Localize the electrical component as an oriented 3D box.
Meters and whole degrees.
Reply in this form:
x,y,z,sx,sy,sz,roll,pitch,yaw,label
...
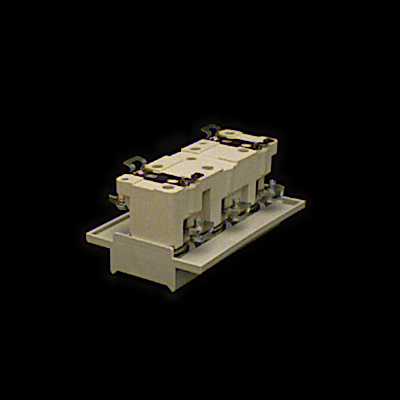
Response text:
x,y,z,sx,sy,sz,roll,pitch,yaw,label
0.000,0.000,0.645,0.078,0.064,0.121,15,25,29,electrical component
